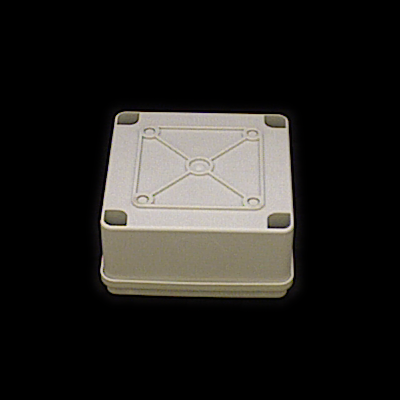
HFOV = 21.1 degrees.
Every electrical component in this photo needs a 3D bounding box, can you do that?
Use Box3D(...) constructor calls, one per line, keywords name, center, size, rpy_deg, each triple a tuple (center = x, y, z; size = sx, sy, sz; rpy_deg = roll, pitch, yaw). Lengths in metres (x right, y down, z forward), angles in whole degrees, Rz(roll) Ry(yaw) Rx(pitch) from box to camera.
Box3D(name="electrical component", center=(0.000, 0.000, 0.630), size=(0.109, 0.056, 0.108), rpy_deg=(1, 42, 1))
